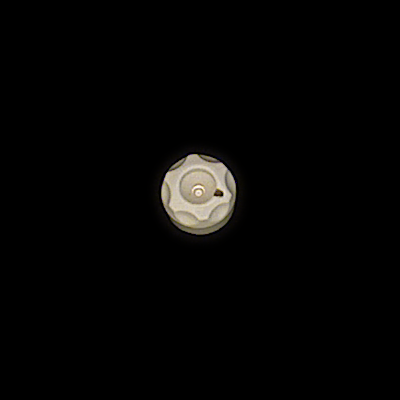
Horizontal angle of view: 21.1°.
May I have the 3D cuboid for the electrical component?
[{"bbox_3d":[0.000,0.000,0.634,0.043,0.043,0.061,0,-16,1],"label":"electrical component"}]
